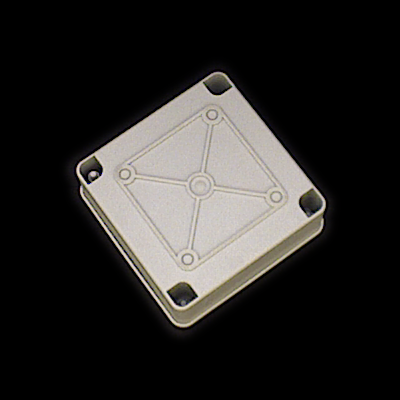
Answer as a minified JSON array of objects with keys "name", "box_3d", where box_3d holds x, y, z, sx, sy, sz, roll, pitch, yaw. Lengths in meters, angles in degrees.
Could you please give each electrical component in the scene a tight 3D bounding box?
[{"name":"electrical component","box_3d":[0.000,0.000,0.627,0.109,0.109,0.056,-35,-15,-10]}]
